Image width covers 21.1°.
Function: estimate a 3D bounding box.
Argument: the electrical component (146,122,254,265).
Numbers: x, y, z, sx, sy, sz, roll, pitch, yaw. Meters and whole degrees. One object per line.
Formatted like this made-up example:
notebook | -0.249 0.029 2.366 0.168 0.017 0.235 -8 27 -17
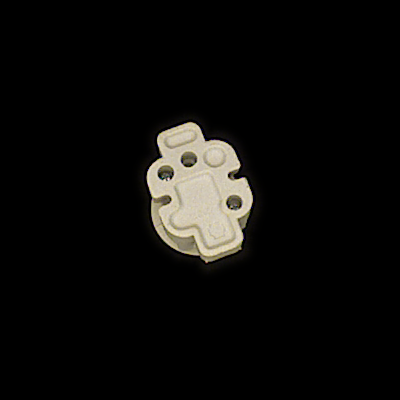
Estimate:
electrical component | 0.000 0.000 0.635 0.058 0.078 0.056 -21 -14 -7
